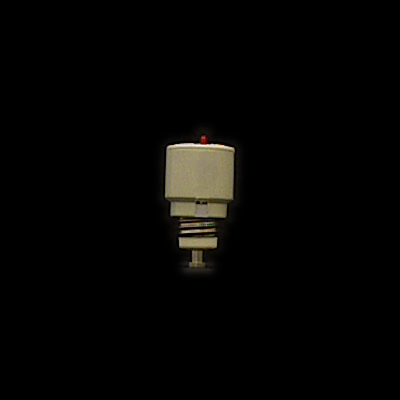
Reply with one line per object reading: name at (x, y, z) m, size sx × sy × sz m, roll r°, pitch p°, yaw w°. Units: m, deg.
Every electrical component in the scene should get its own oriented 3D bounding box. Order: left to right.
electrical component at (0.000, 0.000, 0.647) m, size 0.040 × 0.078 × 0.040 m, roll 1°, pitch 1°, yaw 0°
